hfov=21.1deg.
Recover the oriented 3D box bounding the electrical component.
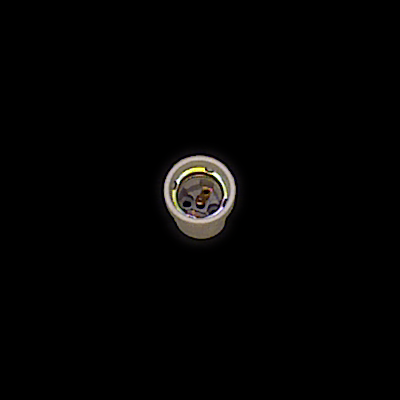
[{"bbox_3d":[0.000,0.000,0.627,0.040,0.040,0.046,0,-17,0],"label":"electrical component"}]
